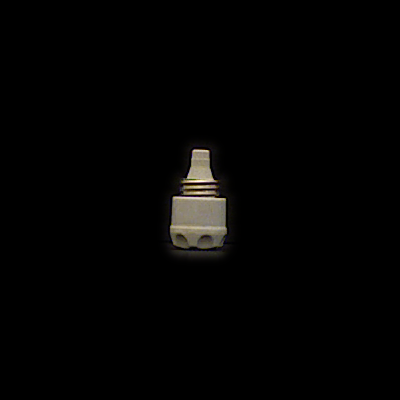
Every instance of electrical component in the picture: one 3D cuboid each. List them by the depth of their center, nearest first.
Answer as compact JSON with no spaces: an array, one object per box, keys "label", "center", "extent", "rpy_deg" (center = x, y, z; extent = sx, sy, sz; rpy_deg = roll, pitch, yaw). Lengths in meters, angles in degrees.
[{"label":"electrical component","center":[0.000,0.000,0.664],"extent":[0.035,0.061,0.035],"rpy_deg":[2,3,0]}]
